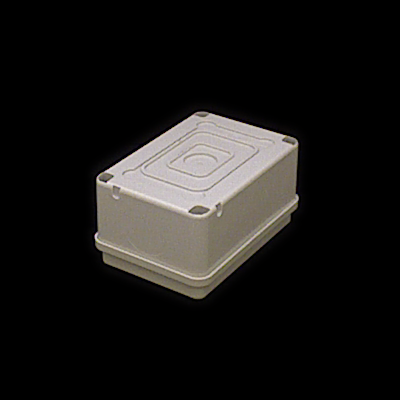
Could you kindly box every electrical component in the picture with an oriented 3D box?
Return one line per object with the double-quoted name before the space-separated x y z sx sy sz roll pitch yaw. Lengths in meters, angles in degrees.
"electrical component" 0.000 0.000 0.635 0.077 0.058 0.112 20 35 28
